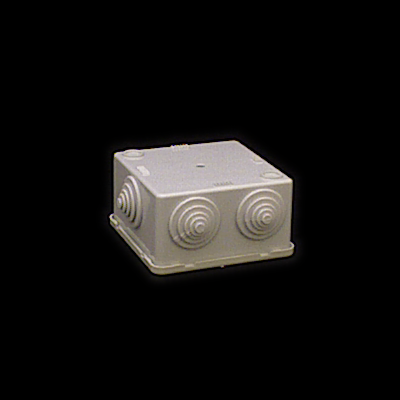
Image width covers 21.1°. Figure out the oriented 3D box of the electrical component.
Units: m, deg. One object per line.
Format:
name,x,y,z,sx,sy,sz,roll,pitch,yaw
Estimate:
electrical component,0.000,0.000,0.641,0.100,0.049,0.098,-7,23,-21
